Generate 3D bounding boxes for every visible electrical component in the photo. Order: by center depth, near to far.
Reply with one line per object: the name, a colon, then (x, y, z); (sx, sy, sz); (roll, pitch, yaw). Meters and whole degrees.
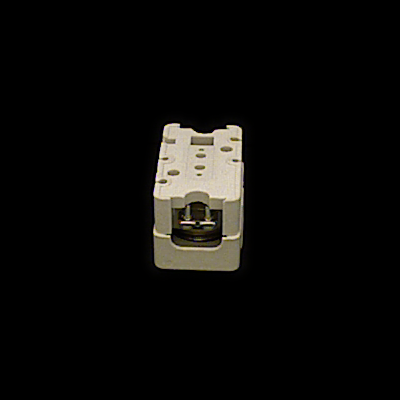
electrical component: (0.000, 0.000, 0.642); (0.050, 0.056, 0.088); (1, 32, 2)
